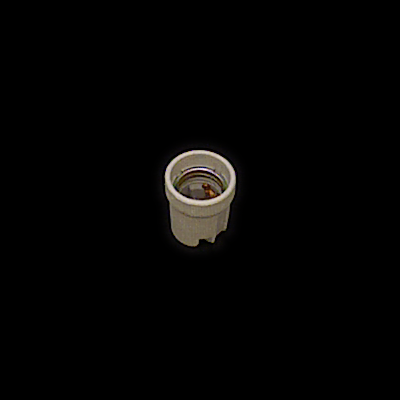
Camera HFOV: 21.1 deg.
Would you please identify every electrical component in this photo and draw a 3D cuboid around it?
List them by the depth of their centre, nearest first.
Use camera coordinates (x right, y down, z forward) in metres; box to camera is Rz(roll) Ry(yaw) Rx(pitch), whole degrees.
[{"bbox_3d":[0.000,0.000,0.629,0.040,0.040,0.046,0,-38,-1],"label":"electrical component"}]
